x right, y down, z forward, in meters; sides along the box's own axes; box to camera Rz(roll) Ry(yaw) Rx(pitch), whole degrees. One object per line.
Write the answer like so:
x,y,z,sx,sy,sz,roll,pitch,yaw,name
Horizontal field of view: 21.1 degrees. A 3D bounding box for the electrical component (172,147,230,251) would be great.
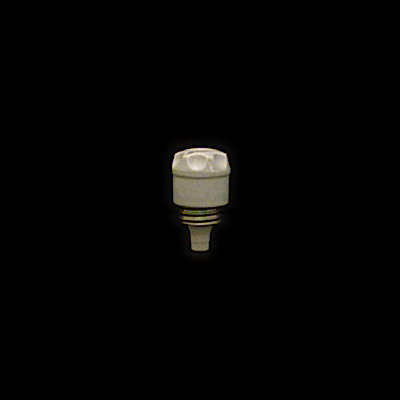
0.000,0.000,0.650,0.035,0.062,0.035,1,12,0,electrical component
